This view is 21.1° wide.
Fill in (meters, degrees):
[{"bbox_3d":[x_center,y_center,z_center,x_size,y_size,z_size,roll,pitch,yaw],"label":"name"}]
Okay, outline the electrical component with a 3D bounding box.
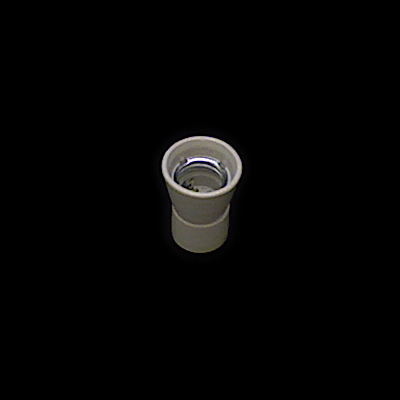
[{"bbox_3d":[0.000,0.000,0.628,0.044,0.044,0.065,0,-38,-1],"label":"electrical component"}]
